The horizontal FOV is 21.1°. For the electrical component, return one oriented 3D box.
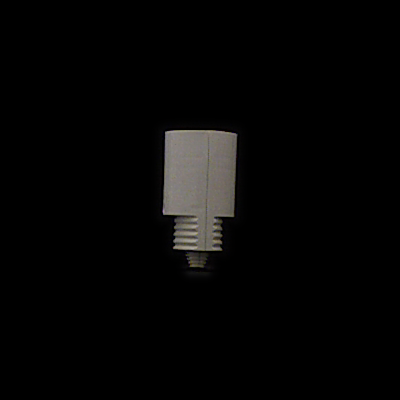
[{"bbox_3d":[0.000,0.000,0.648,0.043,0.081,0.043,1,2,0],"label":"electrical component"}]
